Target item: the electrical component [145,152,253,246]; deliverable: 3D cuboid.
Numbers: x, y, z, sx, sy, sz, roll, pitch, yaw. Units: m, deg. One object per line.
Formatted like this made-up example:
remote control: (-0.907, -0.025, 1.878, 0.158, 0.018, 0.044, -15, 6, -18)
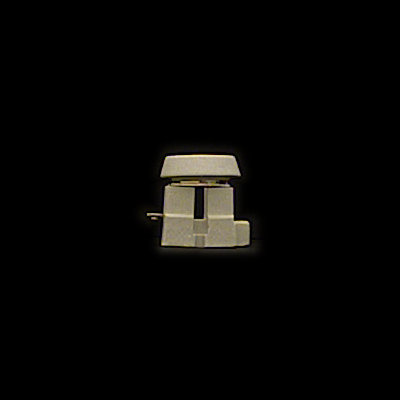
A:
electrical component: (0.000, 0.000, 0.655, 0.066, 0.055, 0.048, 1, 0, -5)
